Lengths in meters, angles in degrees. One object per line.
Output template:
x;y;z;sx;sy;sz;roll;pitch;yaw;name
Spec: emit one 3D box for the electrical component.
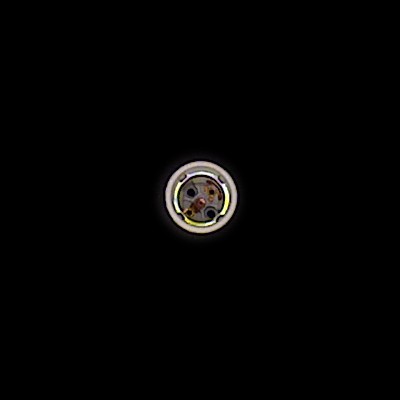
0.000;0.000;0.627;0.040;0.040;0.046;0;-6;0;electrical component
